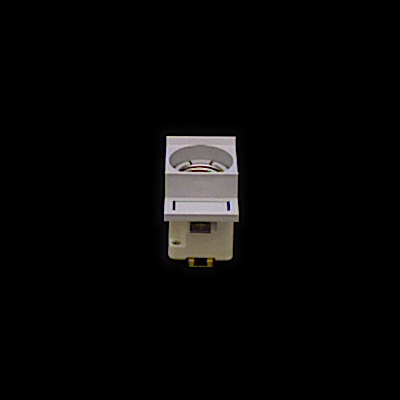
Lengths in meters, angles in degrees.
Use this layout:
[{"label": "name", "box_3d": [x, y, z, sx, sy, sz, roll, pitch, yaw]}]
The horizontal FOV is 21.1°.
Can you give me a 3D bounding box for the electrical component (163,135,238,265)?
[{"label": "electrical component", "box_3d": [0.000, 0.000, 0.635, 0.042, 0.065, 0.079, 0, 32, 0]}]
